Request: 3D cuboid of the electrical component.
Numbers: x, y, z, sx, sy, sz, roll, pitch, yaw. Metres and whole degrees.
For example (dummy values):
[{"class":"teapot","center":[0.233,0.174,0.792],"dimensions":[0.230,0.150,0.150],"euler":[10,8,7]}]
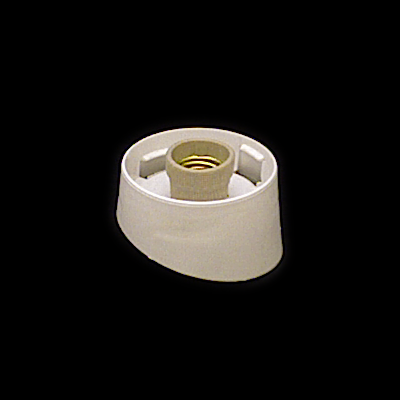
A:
[{"class":"electrical component","center":[0.000,0.000,0.633],"dimensions":[0.099,0.065,0.097],"euler":[1,31,0]}]
